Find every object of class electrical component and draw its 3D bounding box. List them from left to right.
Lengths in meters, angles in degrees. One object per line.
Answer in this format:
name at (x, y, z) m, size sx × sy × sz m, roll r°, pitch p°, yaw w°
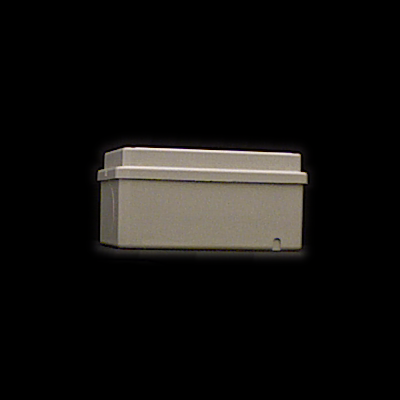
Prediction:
electrical component at (0.000, 0.000, 0.647) m, size 0.113 × 0.057 × 0.078 m, roll 2°, pitch 0°, yaw -15°
